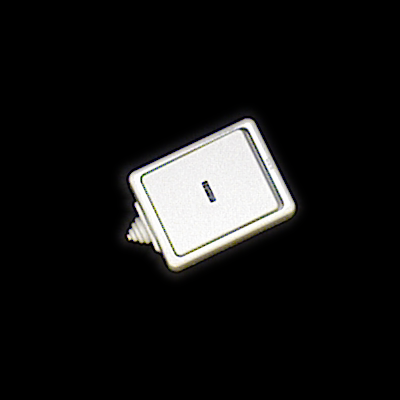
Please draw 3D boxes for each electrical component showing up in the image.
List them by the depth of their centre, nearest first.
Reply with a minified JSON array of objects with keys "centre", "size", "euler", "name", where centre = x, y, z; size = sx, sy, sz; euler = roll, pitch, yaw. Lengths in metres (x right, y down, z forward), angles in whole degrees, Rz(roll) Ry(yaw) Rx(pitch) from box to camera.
[{"centre":[0.000,0.000,0.626],"size":[0.096,0.062,0.061],"euler":[-26,-6,-3],"name":"electrical component"}]
